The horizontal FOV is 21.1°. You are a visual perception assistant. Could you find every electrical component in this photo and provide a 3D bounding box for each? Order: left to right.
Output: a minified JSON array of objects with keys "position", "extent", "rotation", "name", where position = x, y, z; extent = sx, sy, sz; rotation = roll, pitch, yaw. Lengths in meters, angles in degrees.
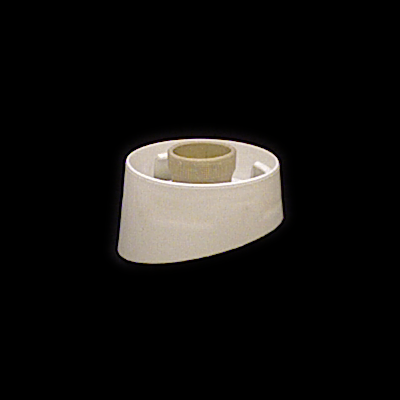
[{"position":[0.000,0.000,0.639],"extent":[0.099,0.065,0.097],"rotation":[1,21,0],"name":"electrical component"}]
